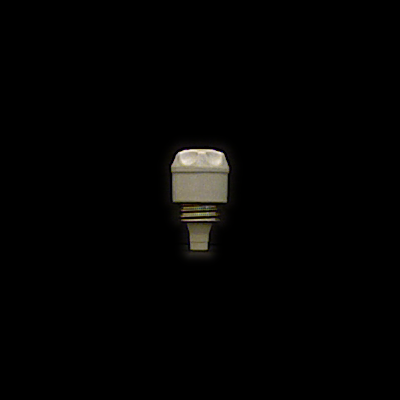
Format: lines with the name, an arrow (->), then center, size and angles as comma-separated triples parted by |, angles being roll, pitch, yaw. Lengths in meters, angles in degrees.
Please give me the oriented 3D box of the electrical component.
electrical component -> 0.000, 0.000, 0.656 | 0.035, 0.061, 0.035 | 1, 1, 1
